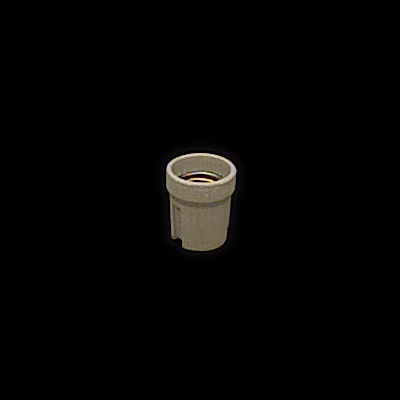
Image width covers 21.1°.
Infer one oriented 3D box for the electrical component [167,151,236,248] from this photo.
[{"bbox_3d":[0.000,0.000,0.637,0.040,0.047,0.039,1,32,0],"label":"electrical component"}]
